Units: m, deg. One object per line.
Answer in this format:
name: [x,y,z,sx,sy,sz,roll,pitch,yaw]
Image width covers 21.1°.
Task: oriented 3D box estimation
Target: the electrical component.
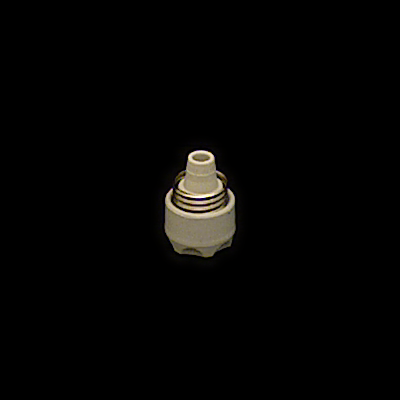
electrical component: [0.000,0.000,0.640,0.043,0.063,0.043,1,34,0]
